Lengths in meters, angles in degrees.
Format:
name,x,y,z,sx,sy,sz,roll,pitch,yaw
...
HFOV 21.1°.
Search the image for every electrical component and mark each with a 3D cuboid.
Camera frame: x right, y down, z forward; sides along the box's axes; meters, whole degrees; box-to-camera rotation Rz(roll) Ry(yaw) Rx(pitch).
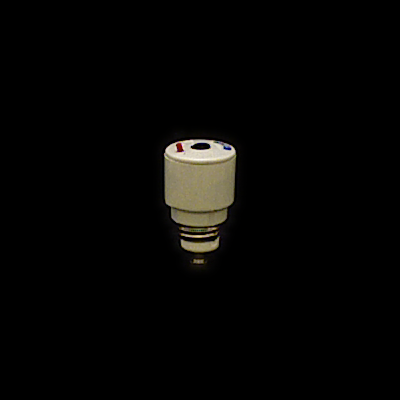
name,x,y,z,sx,sy,sz,roll,pitch,yaw
electrical component,0.000,0.000,0.634,0.040,0.079,0.039,1,22,0
